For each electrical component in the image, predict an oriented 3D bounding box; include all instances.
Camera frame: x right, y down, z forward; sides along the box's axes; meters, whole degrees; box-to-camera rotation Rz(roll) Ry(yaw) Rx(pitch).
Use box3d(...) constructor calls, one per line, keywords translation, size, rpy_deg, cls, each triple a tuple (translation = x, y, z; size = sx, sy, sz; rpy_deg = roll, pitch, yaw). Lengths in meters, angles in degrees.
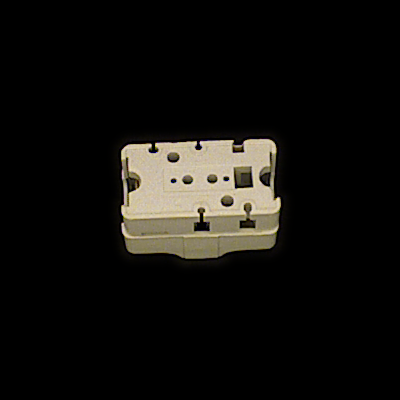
box3d(translation=(0.000, 0.000, 0.636), size=(0.090, 0.050, 0.055), rpy_deg=(-2, -27, -2), cls="electrical component")
